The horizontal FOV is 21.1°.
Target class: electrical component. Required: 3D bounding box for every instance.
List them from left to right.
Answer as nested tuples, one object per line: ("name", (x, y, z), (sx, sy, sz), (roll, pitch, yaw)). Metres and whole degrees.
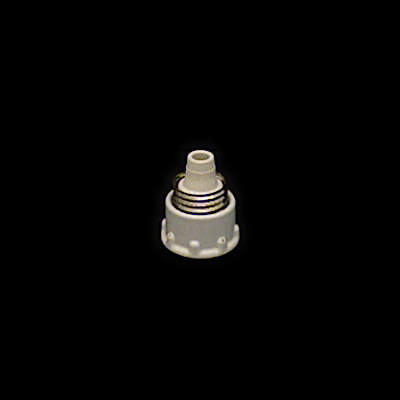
("electrical component", (0.000, 0.000, 0.642), (0.048, 0.063, 0.047), (1, 31, 0))
